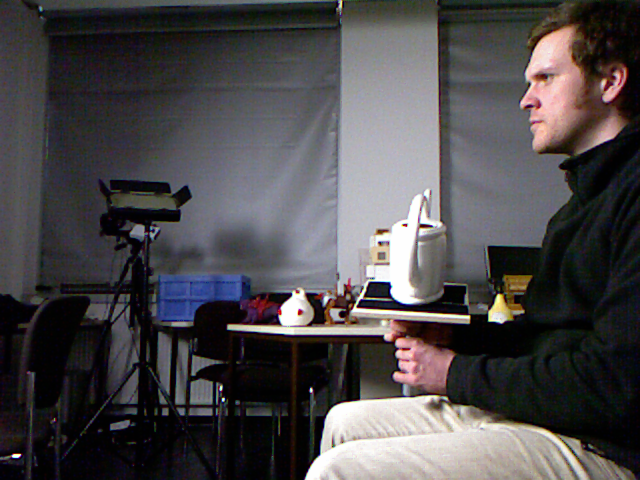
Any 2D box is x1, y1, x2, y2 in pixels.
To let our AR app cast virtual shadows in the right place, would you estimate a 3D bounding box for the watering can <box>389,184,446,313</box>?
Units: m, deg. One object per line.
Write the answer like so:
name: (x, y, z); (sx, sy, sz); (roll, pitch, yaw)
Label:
watering can: (0.198, 0.007, 1.018); (0.104, 0.222, 0.352); (4, 15, 15)
